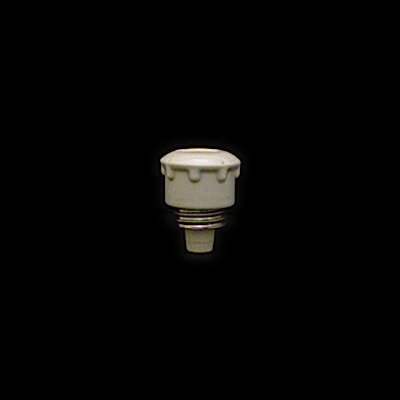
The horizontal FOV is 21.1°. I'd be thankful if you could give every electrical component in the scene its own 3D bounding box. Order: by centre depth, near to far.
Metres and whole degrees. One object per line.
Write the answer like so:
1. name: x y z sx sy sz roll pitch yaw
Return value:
1. electrical component: 0.000 0.000 0.648 0.048 0.062 0.048 1 11 0
